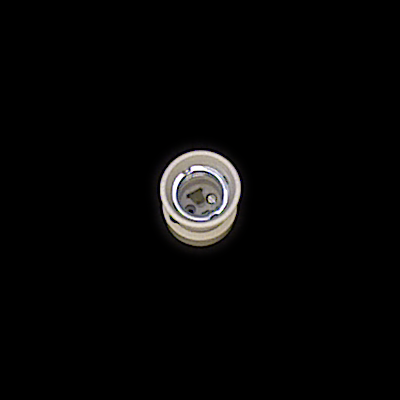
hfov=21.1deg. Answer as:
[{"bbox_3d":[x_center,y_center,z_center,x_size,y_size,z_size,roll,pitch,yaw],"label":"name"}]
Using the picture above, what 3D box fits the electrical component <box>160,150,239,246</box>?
[{"bbox_3d":[0.000,0.000,0.628,0.045,0.045,0.055,0,-16,0],"label":"electrical component"}]
